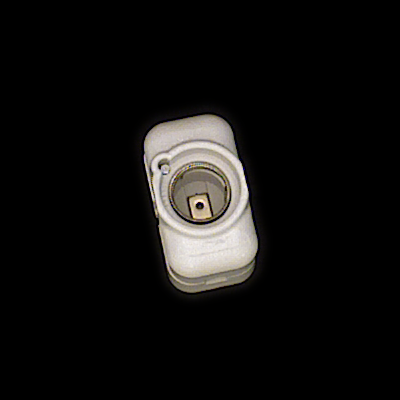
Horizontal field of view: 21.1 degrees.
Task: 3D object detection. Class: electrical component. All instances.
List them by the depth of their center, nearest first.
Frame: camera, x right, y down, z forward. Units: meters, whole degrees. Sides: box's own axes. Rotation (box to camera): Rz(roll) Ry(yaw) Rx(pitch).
[{"bbox_3d":[0.000,0.000,0.634,0.054,0.095,0.059,-12,-16,-4],"label":"electrical component"}]
